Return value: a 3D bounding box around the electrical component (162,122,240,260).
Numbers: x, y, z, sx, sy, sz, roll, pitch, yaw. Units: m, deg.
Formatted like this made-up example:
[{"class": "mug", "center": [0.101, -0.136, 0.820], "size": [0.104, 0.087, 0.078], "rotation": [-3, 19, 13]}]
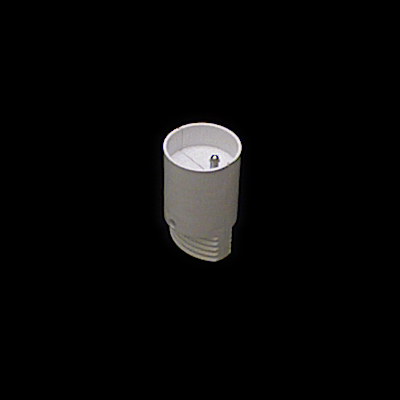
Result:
[{"class": "electrical component", "center": [0.000, 0.000, 0.623], "size": [0.043, 0.082, 0.042], "rotation": [0, 43, 0]}]
